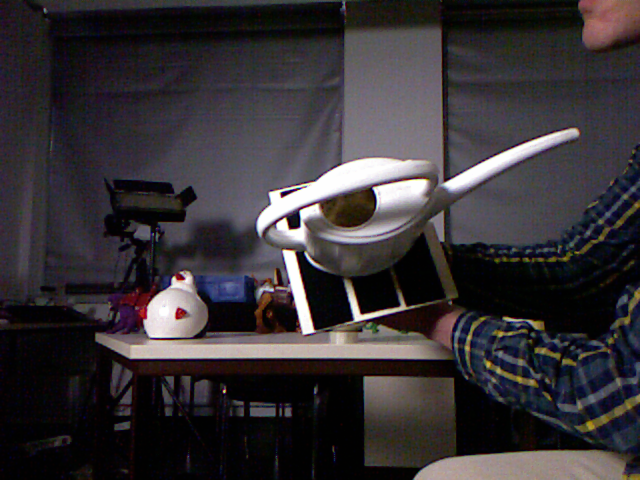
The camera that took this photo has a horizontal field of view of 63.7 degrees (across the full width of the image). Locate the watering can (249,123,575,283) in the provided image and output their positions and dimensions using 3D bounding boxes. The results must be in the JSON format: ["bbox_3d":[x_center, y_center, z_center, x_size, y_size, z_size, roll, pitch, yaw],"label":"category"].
[{"bbox_3d":[0.096,-0.037,0.597,0.351,0.107,0.223,-14,-19,-4],"label":"watering can"}]
